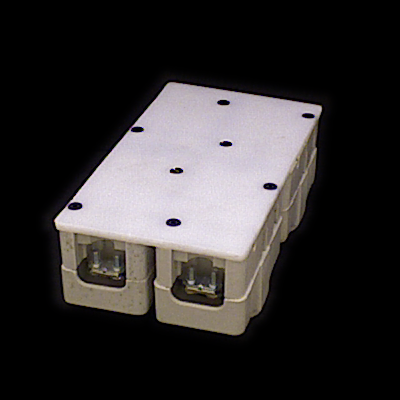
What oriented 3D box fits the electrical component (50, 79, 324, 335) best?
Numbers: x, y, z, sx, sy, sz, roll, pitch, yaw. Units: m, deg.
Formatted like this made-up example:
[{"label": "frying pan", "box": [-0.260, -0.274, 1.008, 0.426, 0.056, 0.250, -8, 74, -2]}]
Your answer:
[{"label": "electrical component", "box": [0.000, 0.000, 0.633, 0.105, 0.061, 0.184, 10, 32, 14]}]
